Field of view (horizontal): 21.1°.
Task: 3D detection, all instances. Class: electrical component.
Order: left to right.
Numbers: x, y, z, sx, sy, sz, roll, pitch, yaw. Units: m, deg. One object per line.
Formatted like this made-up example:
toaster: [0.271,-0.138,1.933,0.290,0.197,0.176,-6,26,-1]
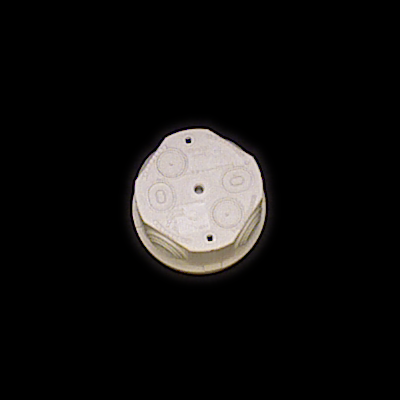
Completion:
electrical component: [0.000,0.000,0.632,0.080,0.080,0.050,0,-16,0]
